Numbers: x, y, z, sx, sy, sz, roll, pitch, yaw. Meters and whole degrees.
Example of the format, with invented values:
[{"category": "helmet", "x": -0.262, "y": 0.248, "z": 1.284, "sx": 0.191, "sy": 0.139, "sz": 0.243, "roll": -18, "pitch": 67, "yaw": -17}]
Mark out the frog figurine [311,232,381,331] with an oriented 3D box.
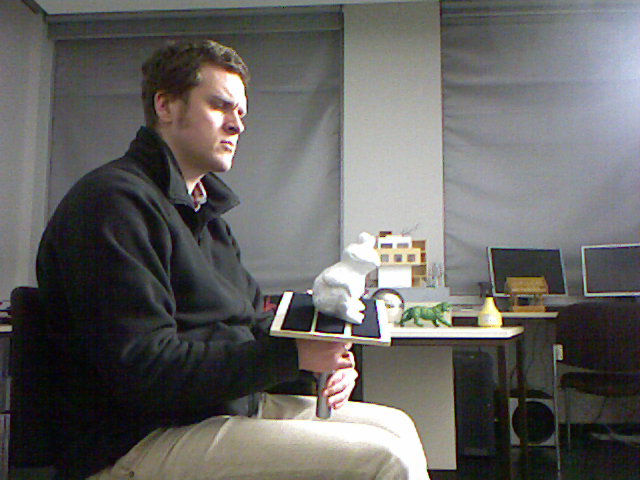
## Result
[{"category": "frog figurine", "x": 0.045, "y": 0.063, "z": 0.930, "sx": 0.123, "sy": 0.158, "sz": 0.139, "roll": 10, "pitch": 15, "yaw": 22}]
